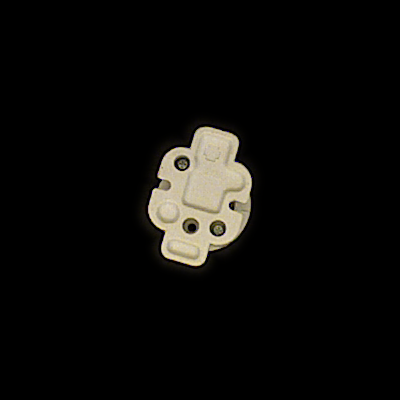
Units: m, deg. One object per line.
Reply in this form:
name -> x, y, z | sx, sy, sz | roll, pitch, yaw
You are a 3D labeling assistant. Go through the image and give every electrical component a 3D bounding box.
electrical component -> 0.000, 0.000, 0.637 | 0.058, 0.079, 0.056 | 15, -7, 3
